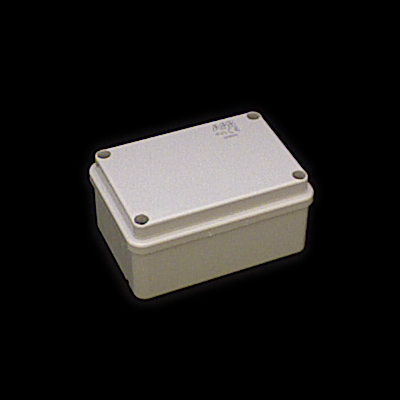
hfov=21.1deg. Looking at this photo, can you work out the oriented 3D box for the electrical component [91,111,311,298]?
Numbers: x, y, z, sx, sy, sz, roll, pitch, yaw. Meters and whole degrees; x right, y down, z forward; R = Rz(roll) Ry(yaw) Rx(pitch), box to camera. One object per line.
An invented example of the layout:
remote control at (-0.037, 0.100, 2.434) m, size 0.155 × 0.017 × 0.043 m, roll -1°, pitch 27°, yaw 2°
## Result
electrical component at (0.000, 0.000, 0.632) m, size 0.113 × 0.057 × 0.077 m, roll -16°, pitch 45°, yaw -18°
